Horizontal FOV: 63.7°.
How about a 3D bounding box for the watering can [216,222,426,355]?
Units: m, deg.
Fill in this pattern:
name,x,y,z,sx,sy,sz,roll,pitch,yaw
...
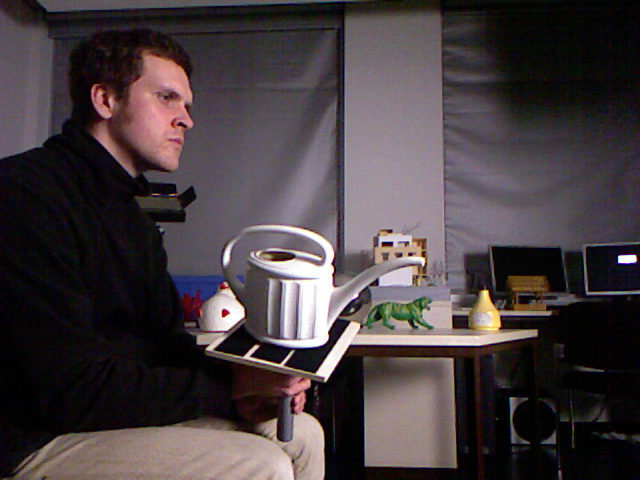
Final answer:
name,x,y,z,sx,sy,sz,roll,pitch,yaw
watering can,-0.012,0.087,0.831,0.349,0.221,0.106,9,23,19
